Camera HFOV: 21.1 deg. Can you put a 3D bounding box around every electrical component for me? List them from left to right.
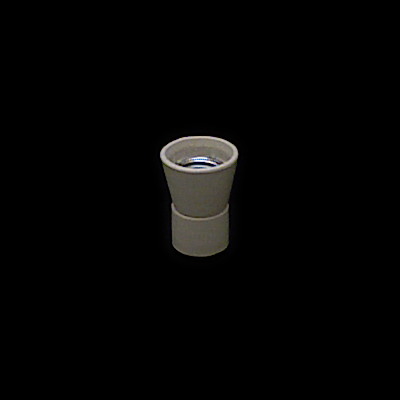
[{"bbox_3d":[0.000,0.000,0.634,0.044,0.066,0.044,0,31,0],"label":"electrical component"}]
